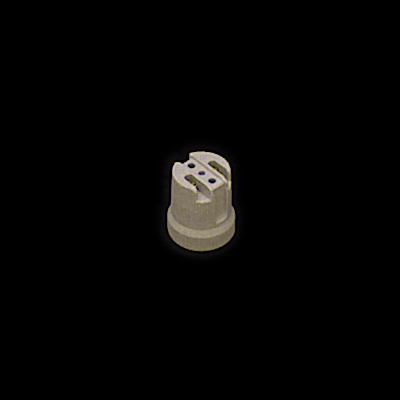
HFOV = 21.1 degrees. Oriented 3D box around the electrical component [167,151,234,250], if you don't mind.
[{"bbox_3d":[0.000,0.000,0.634,0.040,0.046,0.040,0,42,0],"label":"electrical component"}]
